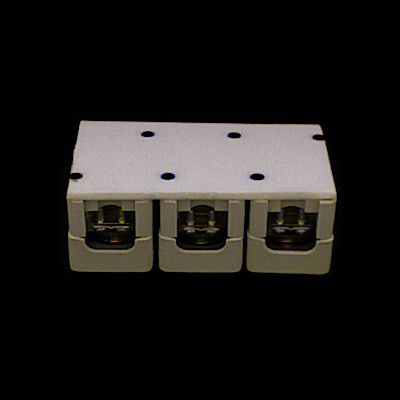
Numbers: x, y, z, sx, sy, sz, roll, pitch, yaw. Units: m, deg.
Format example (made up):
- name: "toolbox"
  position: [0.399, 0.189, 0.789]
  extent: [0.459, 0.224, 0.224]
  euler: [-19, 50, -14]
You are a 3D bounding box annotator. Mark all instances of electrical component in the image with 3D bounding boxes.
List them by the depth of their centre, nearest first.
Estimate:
- name: "electrical component"
  position: [0.000, 0.000, 0.642]
  extent: [0.150, 0.063, 0.087]
  euler: [1, 31, -1]
